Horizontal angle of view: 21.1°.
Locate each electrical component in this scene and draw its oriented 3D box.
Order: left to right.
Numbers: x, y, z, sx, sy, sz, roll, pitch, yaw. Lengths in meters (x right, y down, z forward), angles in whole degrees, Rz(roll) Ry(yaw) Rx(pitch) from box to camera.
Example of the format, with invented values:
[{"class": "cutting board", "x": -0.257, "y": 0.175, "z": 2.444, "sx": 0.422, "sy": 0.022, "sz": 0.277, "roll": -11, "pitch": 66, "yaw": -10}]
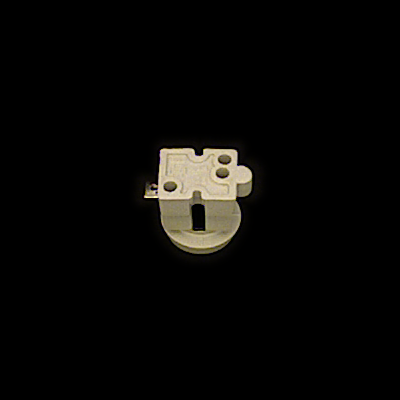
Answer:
[{"class": "electrical component", "x": 0.000, "y": 0.000, "z": 0.639, "sx": 0.066, "sy": 0.048, "sz": 0.056, "roll": 1, "pitch": -36, "yaw": 2}]
